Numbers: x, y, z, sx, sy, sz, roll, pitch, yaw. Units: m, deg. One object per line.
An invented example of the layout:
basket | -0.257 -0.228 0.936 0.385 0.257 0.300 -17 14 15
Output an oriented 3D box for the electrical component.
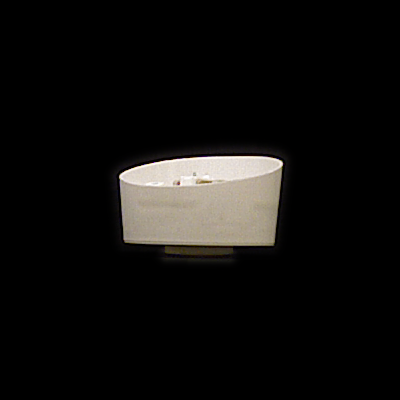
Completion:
electrical component | 0.000 0.000 0.651 0.099 0.064 0.099 1 -1 0
